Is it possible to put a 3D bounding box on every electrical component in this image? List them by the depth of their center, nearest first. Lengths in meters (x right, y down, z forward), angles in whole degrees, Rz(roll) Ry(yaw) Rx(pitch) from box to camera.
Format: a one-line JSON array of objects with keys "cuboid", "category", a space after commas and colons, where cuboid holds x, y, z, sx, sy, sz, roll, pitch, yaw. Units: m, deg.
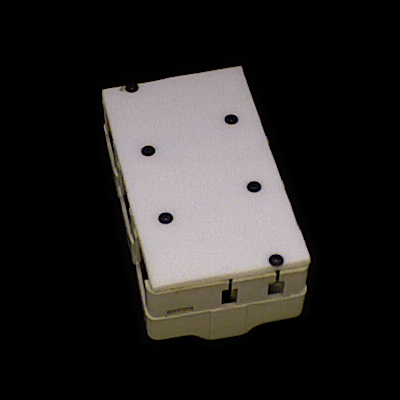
[{"cuboid": [0.000, 0.000, 0.632, 0.089, 0.148, 0.062, -10, -36, -8], "category": "electrical component"}]
